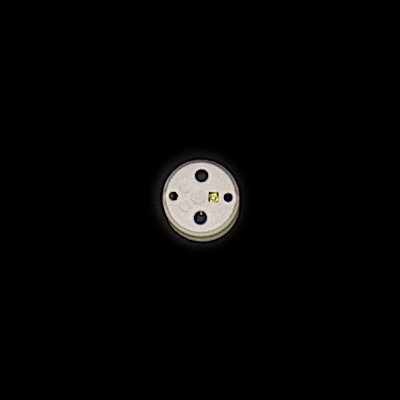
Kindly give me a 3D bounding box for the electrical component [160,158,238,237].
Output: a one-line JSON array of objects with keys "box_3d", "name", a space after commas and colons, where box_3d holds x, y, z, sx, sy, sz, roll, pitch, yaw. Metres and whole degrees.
[{"box_3d": [0.000, 0.000, 0.629, 0.045, 0.045, 0.055, 0, -6, 1], "name": "electrical component"}]
